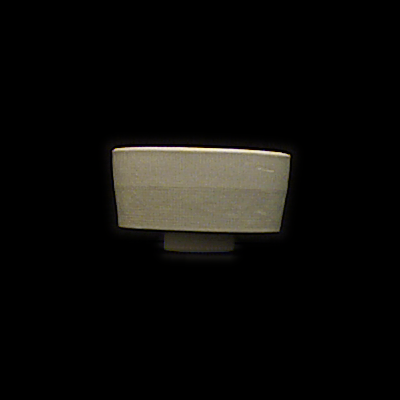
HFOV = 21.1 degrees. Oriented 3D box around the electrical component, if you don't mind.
[{"bbox_3d":[0.000,0.000,0.654,0.108,0.060,0.108,2,1,1],"label":"electrical component"}]
